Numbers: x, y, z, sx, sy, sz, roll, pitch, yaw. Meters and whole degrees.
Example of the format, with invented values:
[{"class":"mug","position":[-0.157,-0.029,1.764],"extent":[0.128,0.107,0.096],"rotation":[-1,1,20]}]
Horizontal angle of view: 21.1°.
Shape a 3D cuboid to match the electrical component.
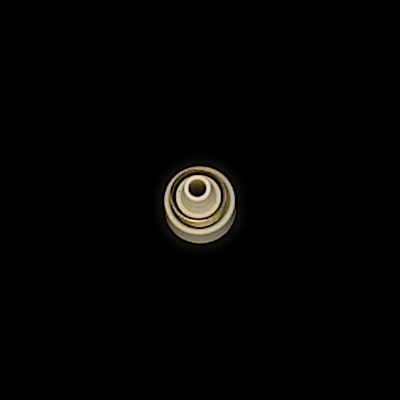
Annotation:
[{"class":"electrical component","position":[0.000,0.000,0.634],"extent":[0.043,0.043,0.061],"rotation":[0,-15,1]}]
